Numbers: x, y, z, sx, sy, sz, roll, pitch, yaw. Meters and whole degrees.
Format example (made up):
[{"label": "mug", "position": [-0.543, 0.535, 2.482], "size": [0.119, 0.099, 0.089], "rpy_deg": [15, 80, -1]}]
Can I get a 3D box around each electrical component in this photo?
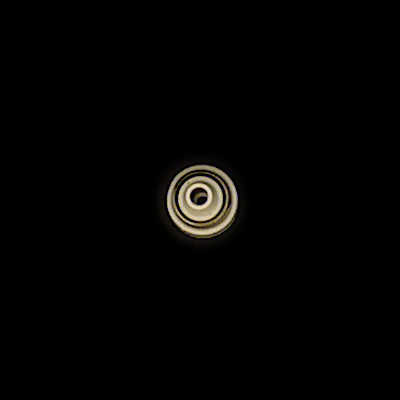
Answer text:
[{"label": "electrical component", "position": [0.000, 0.000, 0.635], "size": [0.043, 0.043, 0.062], "rpy_deg": [0, -5, 2]}]
